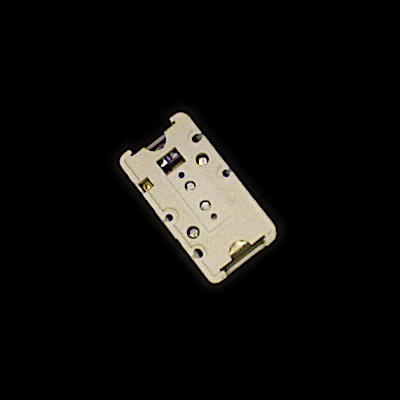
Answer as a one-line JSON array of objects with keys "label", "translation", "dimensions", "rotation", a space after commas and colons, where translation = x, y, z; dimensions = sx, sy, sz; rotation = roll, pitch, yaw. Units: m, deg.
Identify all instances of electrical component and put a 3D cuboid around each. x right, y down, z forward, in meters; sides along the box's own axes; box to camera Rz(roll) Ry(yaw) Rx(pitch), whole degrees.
[{"label": "electrical component", "translation": [0.000, 0.000, 0.637], "dimensions": [0.050, 0.089, 0.055], "rotation": [-38, -5, -2]}]
